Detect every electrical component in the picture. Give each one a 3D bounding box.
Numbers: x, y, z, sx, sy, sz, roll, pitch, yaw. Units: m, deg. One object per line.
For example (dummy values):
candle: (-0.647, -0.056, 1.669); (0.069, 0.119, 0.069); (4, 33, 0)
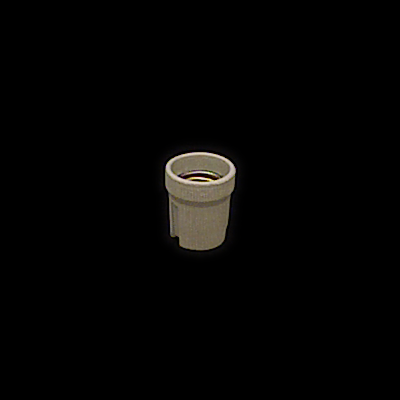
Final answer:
electrical component: (0.000, 0.000, 0.637); (0.040, 0.047, 0.039); (1, 32, 0)
